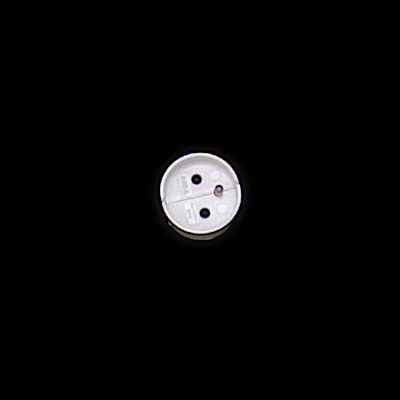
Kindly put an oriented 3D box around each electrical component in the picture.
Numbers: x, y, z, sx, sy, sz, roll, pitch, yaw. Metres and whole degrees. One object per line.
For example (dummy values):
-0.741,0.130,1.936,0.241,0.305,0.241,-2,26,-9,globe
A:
0.000,0.000,0.616,0.043,0.043,0.080,0,-6,-1,electrical component
